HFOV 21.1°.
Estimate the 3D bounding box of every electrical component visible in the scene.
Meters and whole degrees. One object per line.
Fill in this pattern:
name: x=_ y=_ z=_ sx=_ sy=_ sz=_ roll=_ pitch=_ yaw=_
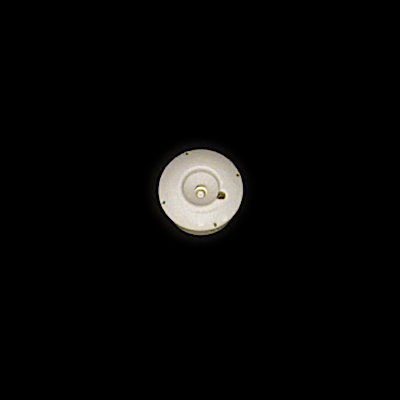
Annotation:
electrical component: x=0.000 y=0.000 z=0.634 sx=0.048 sy=0.048 sz=0.062 roll=0 pitch=-16 yaw=1
